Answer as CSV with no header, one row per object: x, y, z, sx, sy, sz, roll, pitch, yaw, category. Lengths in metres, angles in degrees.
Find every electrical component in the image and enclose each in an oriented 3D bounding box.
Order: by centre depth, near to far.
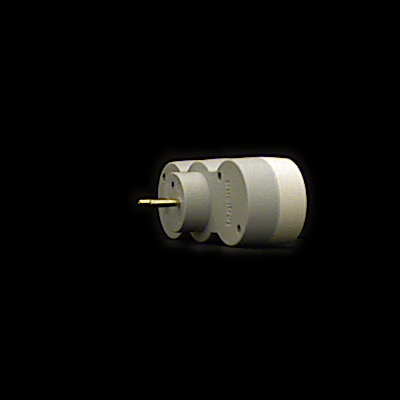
0.000,0.000,0.656,0.074,0.052,0.136,-1,2,-24,electrical component
